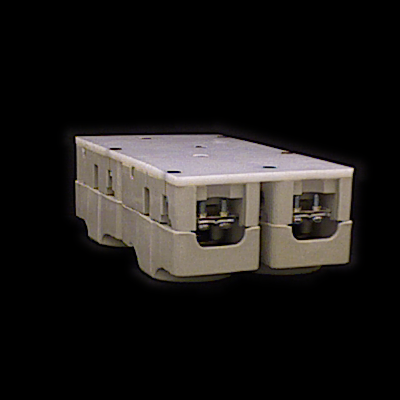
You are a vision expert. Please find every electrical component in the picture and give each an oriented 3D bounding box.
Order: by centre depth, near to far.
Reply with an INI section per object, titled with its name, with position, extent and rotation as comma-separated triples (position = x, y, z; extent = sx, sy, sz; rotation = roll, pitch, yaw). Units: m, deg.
[electrical component]
position = 0.000, 0.000, 0.644
extent = 0.106, 0.061, 0.184
rotation = -3, 11, -23
